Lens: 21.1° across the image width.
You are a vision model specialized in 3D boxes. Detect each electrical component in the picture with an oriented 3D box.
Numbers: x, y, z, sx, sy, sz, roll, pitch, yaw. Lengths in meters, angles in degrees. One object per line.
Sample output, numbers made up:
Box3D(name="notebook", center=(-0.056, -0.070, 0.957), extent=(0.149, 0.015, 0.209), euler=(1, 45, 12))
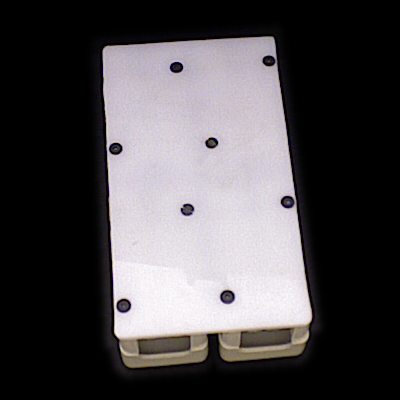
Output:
Box3D(name="electrical component", center=(0.000, 0.000, 0.625), extent=(0.105, 0.186, 0.060), euler=(-4, -27, -2))
